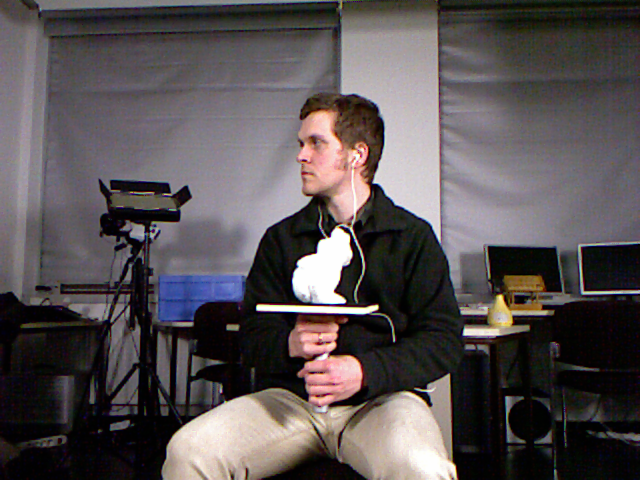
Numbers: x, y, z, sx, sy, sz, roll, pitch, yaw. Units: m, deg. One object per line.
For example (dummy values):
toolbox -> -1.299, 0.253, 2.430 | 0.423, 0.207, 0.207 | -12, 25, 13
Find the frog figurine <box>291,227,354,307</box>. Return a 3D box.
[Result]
frog figurine -> 0.005, 0.053, 1.034 | 0.122, 0.160, 0.137 | 1, -3, 35
